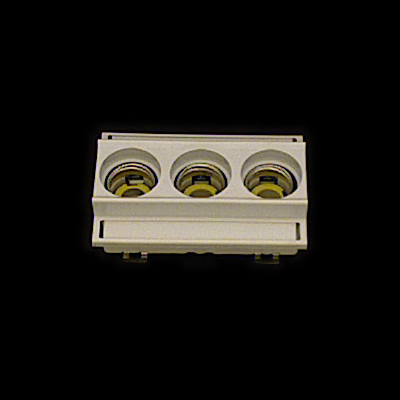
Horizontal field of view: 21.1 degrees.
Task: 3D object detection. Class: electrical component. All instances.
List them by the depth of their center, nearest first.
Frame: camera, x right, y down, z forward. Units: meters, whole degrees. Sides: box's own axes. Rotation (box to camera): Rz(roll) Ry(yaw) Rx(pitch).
[{"bbox_3d":[0.000,0.000,0.638,0.121,0.078,0.063,1,-36,1],"label":"electrical component"}]
